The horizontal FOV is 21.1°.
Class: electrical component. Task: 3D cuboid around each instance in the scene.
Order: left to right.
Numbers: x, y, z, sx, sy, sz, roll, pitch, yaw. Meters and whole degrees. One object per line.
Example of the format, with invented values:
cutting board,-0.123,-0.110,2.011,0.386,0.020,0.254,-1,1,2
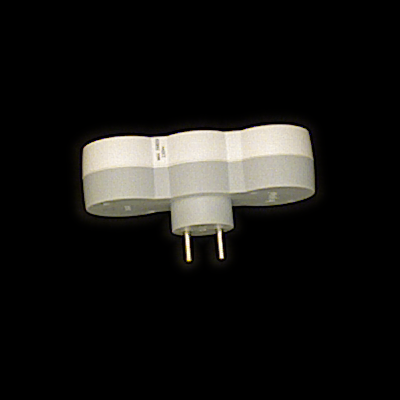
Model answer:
electrical component,0.000,0.000,0.637,0.138,0.074,0.052,-4,-15,-1
